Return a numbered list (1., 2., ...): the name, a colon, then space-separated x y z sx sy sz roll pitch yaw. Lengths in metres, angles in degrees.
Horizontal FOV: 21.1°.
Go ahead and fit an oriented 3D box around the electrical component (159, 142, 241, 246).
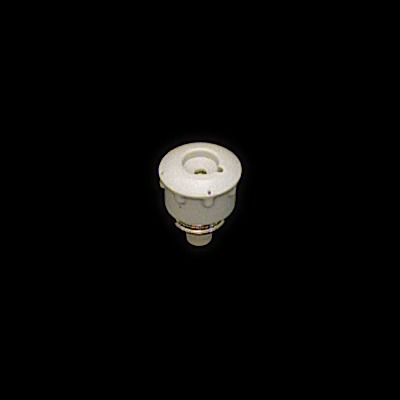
1. electrical component: 0.000 0.000 0.639 0.048 0.062 0.047 1 43 0
